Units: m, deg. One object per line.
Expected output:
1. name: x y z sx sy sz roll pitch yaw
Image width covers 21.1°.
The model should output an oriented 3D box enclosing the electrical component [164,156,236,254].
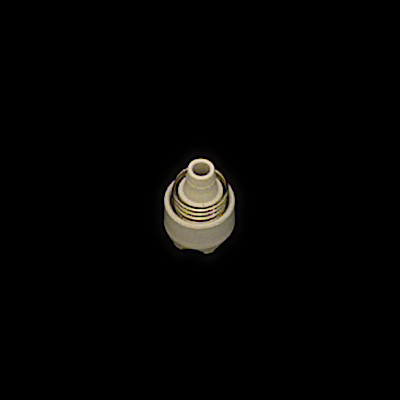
1. electrical component: 0.000 0.000 0.635 0.043 0.043 0.062 0 -37 -2
